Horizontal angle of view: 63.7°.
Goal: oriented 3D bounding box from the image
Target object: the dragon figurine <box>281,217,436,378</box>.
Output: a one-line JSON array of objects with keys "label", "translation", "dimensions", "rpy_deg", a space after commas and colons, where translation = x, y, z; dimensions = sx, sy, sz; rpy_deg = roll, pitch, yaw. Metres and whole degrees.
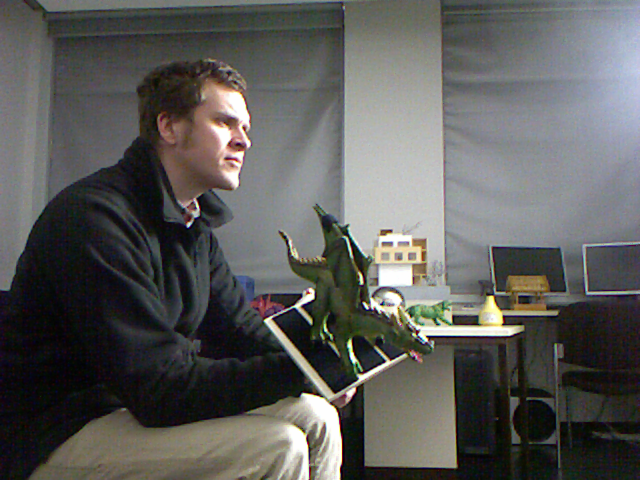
[{"label": "dragon figurine", "translation": [0.030, 0.061, 0.849], "dimensions": [0.124, 0.238, 0.418], "rpy_deg": [-24, 48, -25]}]
